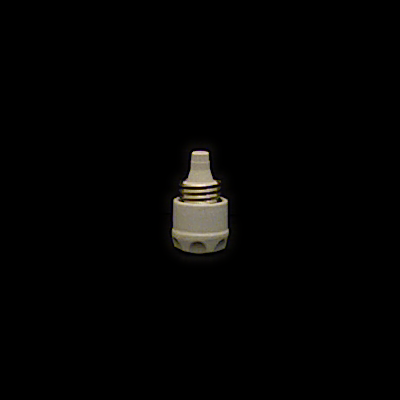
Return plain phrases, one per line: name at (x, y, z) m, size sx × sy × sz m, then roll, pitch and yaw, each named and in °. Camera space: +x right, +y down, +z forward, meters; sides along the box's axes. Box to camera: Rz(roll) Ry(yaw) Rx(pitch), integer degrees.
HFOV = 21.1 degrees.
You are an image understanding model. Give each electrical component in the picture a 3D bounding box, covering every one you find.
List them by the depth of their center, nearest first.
electrical component at (0.000, 0.000, 0.657) m, size 0.035 × 0.062 × 0.035 m, roll 0°, pitch 13°, yaw 0°
